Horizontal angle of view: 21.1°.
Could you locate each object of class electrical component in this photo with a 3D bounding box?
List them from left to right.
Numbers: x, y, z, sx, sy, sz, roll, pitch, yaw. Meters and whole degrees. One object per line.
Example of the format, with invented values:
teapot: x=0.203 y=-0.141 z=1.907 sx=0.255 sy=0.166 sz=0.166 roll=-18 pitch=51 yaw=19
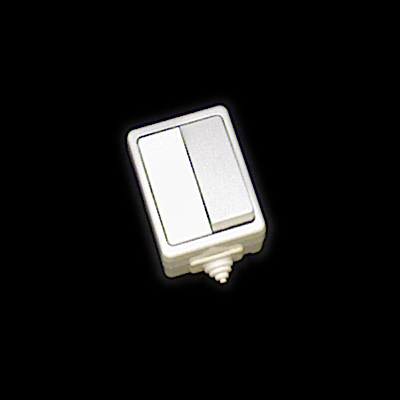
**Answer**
electrical component: x=0.000 y=0.000 z=0.625 sx=0.062 sy=0.097 sz=0.060 roll=-16 pitch=-17 yaw=-5
